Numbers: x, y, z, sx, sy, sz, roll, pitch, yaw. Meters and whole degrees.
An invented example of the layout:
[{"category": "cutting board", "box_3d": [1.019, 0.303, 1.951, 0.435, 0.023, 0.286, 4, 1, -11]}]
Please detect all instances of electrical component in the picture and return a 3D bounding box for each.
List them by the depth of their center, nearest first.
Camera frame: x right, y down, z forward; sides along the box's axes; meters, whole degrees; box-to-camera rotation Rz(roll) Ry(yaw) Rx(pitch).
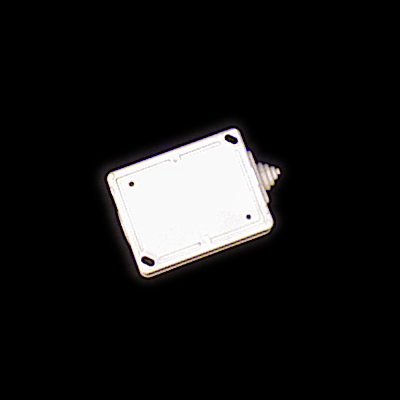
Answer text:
[{"category": "electrical component", "box_3d": [0.000, 0.000, 0.629, 0.096, 0.062, 0.061, -20, -6, -3]}]
